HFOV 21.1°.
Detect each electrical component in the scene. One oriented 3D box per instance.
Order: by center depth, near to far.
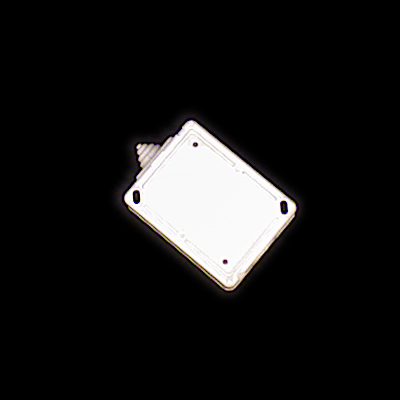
[{"bbox_3d":[0.000,0.000,0.630,0.096,0.062,0.061,40,-5,6],"label":"electrical component"}]
